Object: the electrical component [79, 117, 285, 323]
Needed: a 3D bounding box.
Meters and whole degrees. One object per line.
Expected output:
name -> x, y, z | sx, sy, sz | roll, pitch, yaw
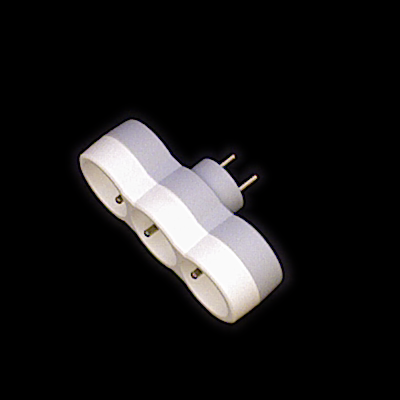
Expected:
electrical component -> 0.000, 0.000, 0.631 | 0.074, 0.138, 0.052 | -39, -21, -20
